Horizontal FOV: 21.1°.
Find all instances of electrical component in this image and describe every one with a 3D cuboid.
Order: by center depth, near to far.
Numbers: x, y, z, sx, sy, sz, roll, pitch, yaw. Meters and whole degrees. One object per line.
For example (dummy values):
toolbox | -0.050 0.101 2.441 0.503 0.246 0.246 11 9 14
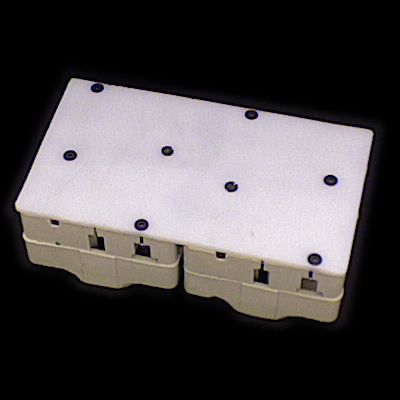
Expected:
electrical component | 0.000 0.000 0.627 0.186 0.105 0.060 11 -37 7
